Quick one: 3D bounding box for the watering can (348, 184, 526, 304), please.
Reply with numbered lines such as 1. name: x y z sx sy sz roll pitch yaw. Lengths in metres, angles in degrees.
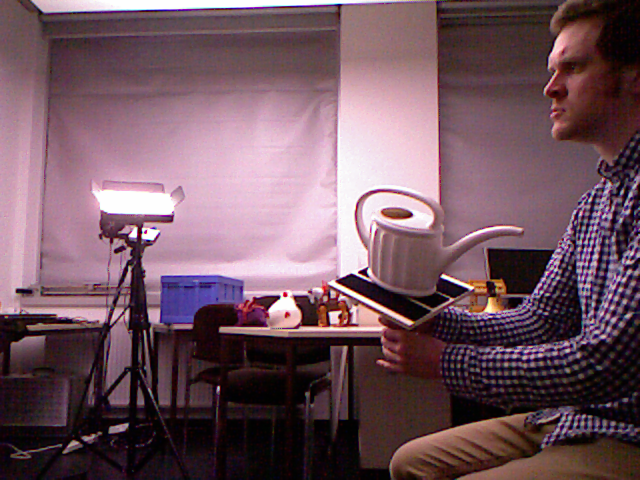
1. watering can: 0.191 0.020 0.947 0.350 0.220 0.105 21 34 37
